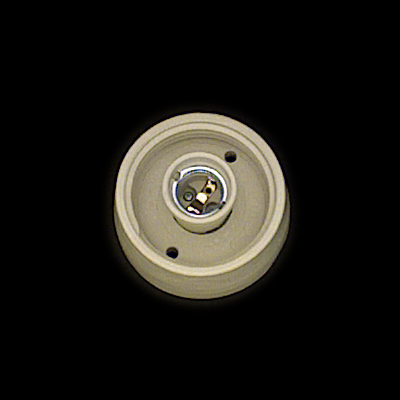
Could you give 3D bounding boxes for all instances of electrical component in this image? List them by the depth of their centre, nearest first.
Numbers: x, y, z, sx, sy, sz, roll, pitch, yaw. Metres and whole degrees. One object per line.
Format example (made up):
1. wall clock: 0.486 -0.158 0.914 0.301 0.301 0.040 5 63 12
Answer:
1. electrical component: 0.000 0.000 0.633 0.108 0.108 0.060 0 -16 0
